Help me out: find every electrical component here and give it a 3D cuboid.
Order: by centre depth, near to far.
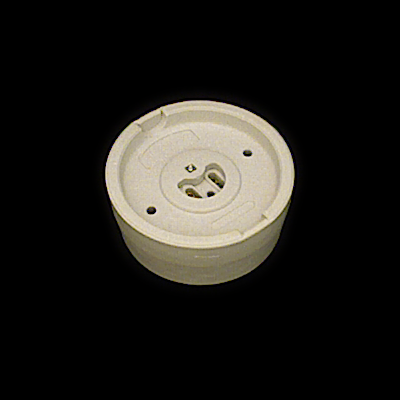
[{"bbox_3d":[0.000,0.000,0.636,0.108,0.107,0.060,0,-37,-1],"label":"electrical component"}]
